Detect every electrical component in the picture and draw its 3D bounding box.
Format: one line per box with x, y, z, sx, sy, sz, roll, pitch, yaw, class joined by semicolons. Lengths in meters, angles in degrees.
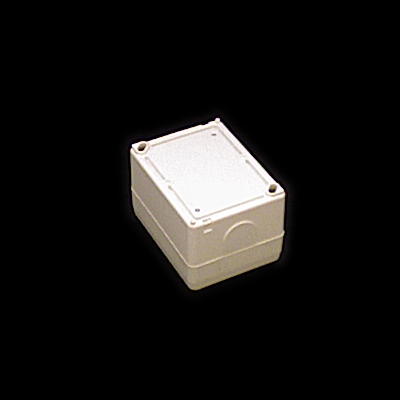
0.000;0.000;0.633;0.061;0.061;0.095;-19;45;-21;electrical component
